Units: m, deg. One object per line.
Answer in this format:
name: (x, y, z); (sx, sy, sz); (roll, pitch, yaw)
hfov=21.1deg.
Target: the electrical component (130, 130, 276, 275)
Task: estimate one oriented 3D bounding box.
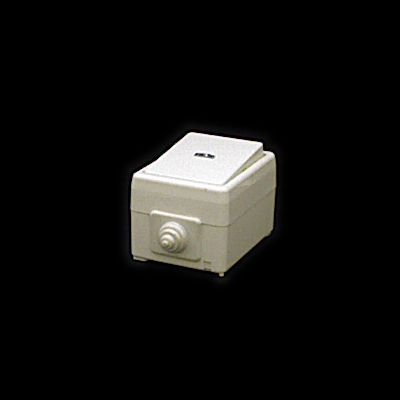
electrical component: (0.000, 0.000, 0.637); (0.061, 0.061, 0.095); (10, 22, 23)
